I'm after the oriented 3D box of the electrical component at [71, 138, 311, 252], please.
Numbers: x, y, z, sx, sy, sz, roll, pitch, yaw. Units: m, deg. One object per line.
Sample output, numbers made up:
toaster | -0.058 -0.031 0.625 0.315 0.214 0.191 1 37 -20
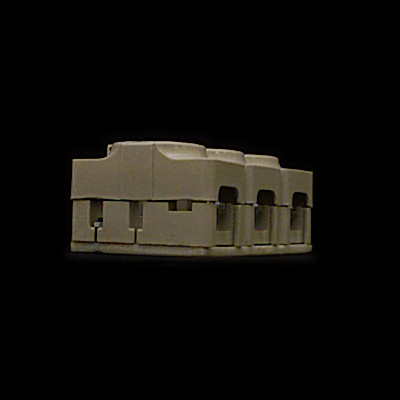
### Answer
electrical component | 0.000 0.000 0.657 0.089 0.062 0.151 1 -2 27
